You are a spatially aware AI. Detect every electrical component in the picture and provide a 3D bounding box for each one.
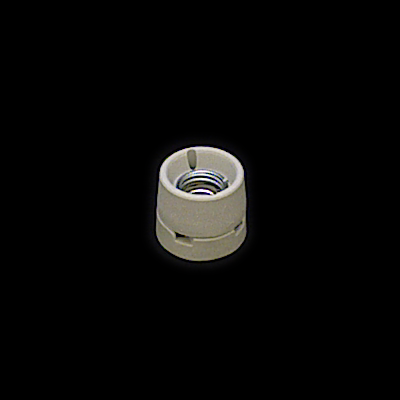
[{"bbox_3d":[0.000,0.000,0.637,0.055,0.047,0.055,1,41,0],"label":"electrical component"}]
